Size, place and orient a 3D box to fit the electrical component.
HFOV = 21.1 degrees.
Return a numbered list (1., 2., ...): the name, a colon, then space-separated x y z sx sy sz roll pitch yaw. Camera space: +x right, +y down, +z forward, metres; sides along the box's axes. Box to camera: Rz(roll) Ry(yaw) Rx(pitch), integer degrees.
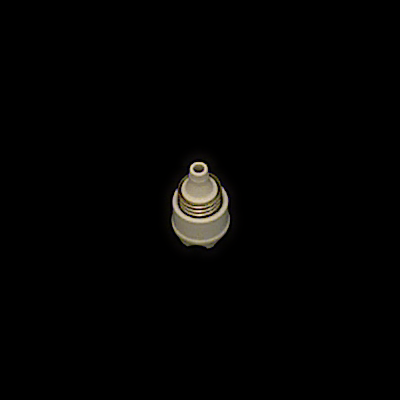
1. electrical component: 0.000 0.000 0.638 0.035 0.035 0.062 0 -38 2
